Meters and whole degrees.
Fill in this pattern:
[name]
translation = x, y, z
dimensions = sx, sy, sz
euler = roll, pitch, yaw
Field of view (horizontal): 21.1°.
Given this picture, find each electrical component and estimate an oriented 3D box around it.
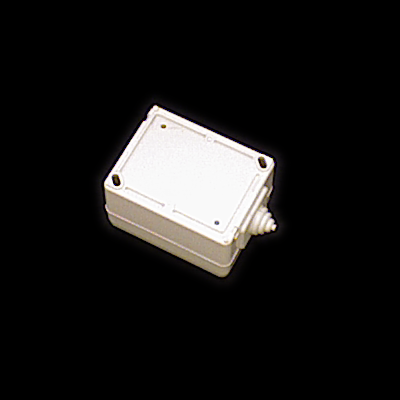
[electrical component]
translation = 0.000, 0.000, 0.626
dimensions = 0.096, 0.062, 0.060
euler = 25, -24, 11
